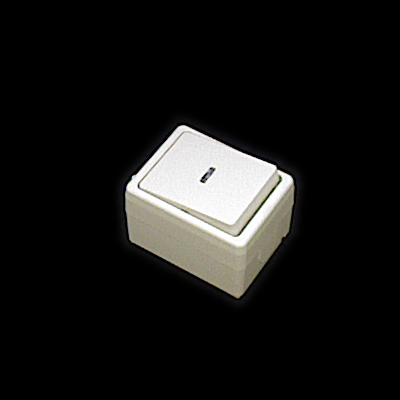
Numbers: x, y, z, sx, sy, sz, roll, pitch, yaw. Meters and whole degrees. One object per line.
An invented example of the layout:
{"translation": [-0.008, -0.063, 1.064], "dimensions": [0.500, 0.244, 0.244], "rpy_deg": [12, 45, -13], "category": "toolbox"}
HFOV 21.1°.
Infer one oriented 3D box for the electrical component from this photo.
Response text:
{"translation": [0.000, 0.000, 0.629], "dimensions": [0.096, 0.062, 0.061], "rpy_deg": [27, -34, 19], "category": "electrical component"}
